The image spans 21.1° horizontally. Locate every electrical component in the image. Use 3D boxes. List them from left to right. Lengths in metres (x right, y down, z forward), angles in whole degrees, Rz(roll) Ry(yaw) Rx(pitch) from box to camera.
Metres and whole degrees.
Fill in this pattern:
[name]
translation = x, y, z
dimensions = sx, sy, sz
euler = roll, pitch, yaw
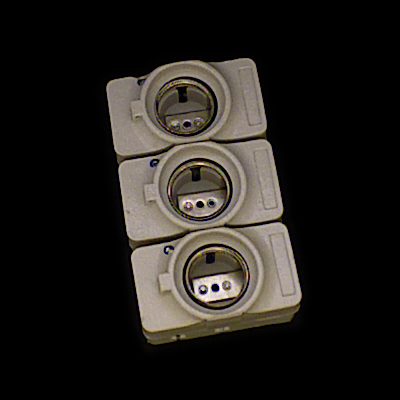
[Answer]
[electrical component]
translation = 0.000, 0.000, 0.631
dimensions = 0.090, 0.150, 0.062
euler = -9, -17, -2
